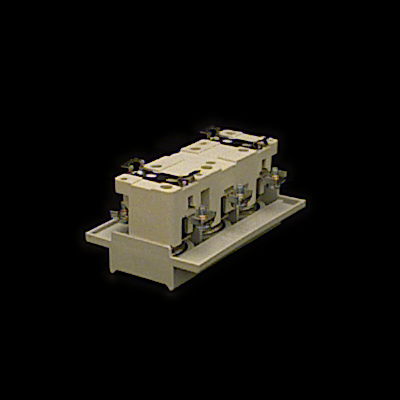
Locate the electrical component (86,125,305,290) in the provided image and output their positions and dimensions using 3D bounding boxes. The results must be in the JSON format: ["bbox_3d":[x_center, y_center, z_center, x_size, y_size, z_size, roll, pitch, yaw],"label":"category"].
[{"bbox_3d":[0.000,0.000,0.646,0.077,0.064,0.121,14,24,30],"label":"electrical component"}]
